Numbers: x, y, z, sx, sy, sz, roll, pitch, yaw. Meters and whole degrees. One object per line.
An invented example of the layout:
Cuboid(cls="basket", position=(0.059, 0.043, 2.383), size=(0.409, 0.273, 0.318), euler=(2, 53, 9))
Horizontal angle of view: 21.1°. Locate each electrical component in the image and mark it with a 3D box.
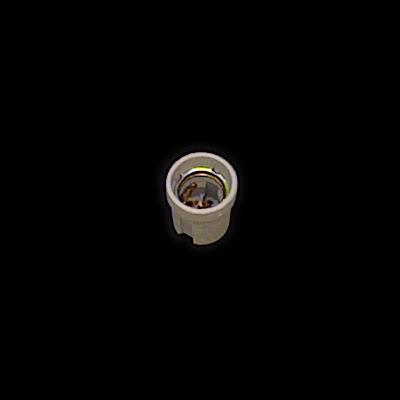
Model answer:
Cuboid(cls="electrical component", position=(0.000, 0.000, 0.629), size=(0.040, 0.040, 0.046), euler=(0, -28, 0))
